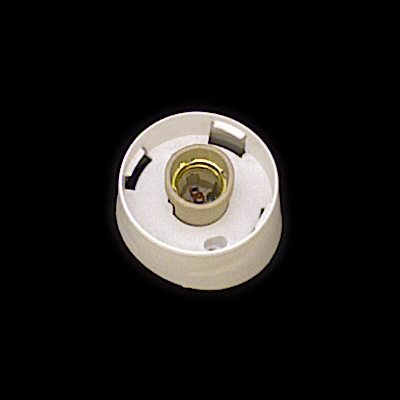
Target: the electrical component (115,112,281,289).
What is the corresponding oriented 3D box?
[{"bbox_3d":[0.000,0.000,0.625,0.099,0.099,0.064,0,-27,-1],"label":"electrical component"}]
